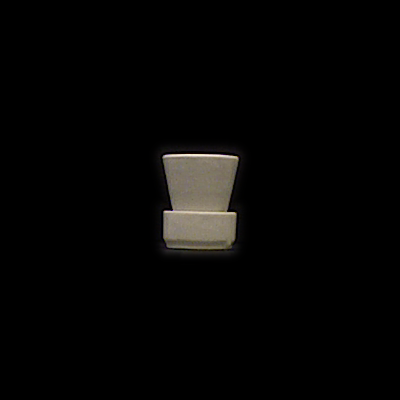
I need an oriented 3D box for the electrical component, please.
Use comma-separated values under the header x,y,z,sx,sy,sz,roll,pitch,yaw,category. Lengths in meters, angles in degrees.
x,y,z,sx,sy,sz,roll,pitch,yaw,category
0.000,0.000,0.648,0.045,0.055,0.044,1,1,0,electrical component
